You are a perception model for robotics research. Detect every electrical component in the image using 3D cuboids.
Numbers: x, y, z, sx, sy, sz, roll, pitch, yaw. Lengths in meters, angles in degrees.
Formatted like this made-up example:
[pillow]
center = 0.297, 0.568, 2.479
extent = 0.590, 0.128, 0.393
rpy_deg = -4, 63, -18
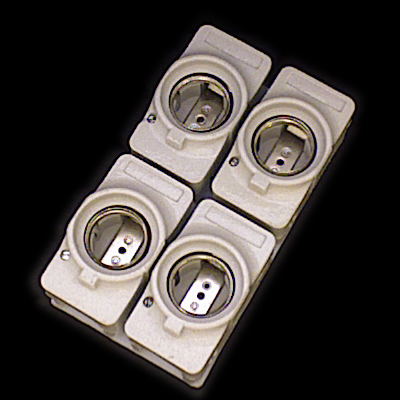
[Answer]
[electrical component]
center = 0.000, 0.000, 0.625
extent = 0.105, 0.187, 0.060
rpy_deg = 29, -15, 9
